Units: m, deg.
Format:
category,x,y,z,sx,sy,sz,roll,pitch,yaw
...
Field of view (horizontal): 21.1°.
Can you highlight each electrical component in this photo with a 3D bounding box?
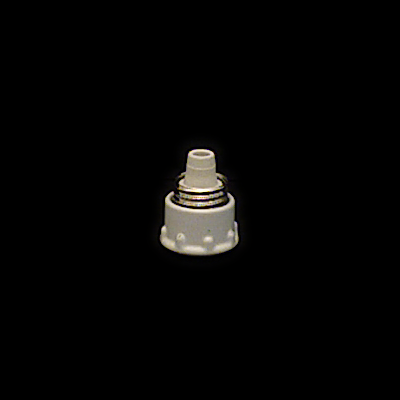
category,x,y,z,sx,sy,sz,roll,pitch,yaw
electrical component,0.000,0.000,0.645,0.048,0.063,0.047,1,23,0
